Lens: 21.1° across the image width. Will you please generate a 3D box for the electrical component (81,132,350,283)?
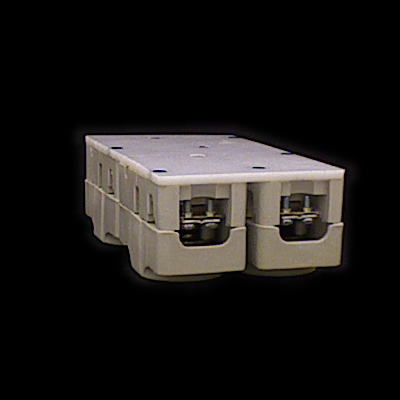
[{"bbox_3d":[0.000,0.000,0.644,0.106,0.061,0.184,-2,11,-18],"label":"electrical component"}]
